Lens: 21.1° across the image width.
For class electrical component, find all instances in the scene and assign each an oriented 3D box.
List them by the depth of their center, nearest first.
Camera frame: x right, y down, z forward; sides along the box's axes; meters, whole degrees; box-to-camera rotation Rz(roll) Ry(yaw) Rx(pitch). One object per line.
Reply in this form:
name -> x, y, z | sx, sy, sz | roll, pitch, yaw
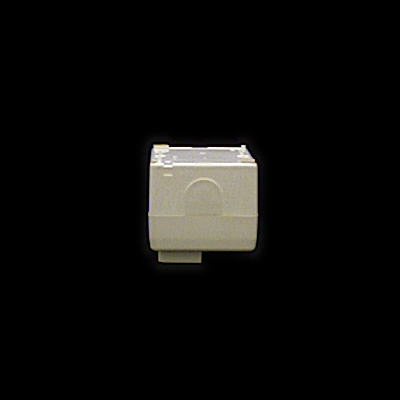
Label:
electrical component -> 0.000, 0.000, 0.652 | 0.062, 0.061, 0.095 | 0, 11, -2
